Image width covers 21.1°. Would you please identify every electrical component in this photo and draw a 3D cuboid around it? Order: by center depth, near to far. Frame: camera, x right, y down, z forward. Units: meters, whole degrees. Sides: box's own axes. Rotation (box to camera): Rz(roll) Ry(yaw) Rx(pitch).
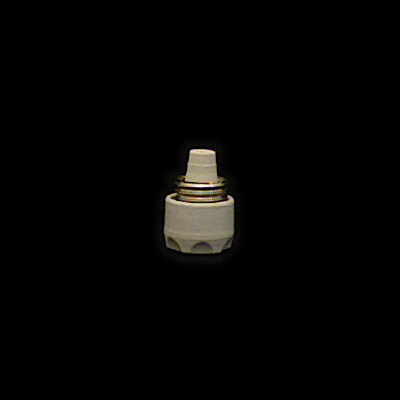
[{"bbox_3d":[0.000,0.000,0.651,0.043,0.062,0.043,3,12,0],"label":"electrical component"}]
